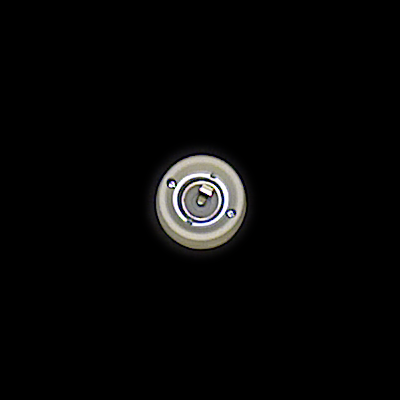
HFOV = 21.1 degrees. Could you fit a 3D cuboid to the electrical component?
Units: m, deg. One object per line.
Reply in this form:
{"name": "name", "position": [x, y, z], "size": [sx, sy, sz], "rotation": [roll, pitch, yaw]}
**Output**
{"name": "electrical component", "position": [0.000, 0.000, 0.633], "size": [0.055, 0.055, 0.047], "rotation": [0, -6, 0]}
